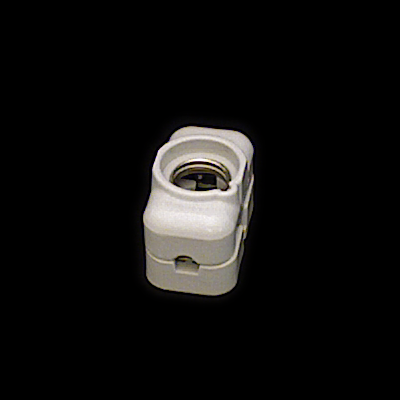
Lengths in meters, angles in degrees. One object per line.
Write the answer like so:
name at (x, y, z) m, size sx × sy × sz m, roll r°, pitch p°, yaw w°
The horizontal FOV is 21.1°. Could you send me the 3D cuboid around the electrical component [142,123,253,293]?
electrical component at (0.000, 0.000, 0.637) m, size 0.053 × 0.060 × 0.094 m, roll 7°, pitch 43°, yaw 7°
